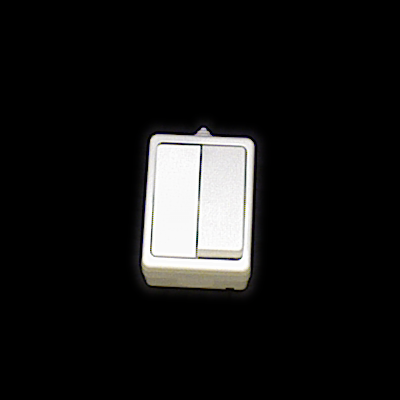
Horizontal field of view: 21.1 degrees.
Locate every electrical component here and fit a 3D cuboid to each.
[{"bbox_3d":[0.000,0.000,0.627,0.062,0.096,0.060,3,-17,1],"label":"electrical component"}]
